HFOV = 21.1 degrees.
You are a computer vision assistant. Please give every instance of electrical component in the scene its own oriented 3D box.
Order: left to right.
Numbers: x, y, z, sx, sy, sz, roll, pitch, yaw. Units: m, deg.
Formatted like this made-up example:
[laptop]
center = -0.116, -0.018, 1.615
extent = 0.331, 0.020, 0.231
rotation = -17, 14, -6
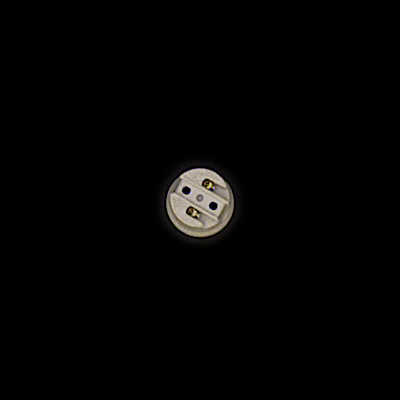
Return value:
[electrical component]
center = 0.000, 0.000, 0.634
extent = 0.040, 0.040, 0.046
rotation = 0, -6, 1
